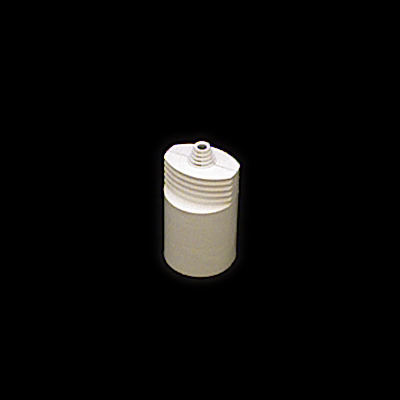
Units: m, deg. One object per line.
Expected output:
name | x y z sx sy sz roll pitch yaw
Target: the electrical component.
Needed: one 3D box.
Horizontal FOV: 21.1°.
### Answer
electrical component | 0.000 0.000 0.623 0.043 0.082 0.042 0 42 0
